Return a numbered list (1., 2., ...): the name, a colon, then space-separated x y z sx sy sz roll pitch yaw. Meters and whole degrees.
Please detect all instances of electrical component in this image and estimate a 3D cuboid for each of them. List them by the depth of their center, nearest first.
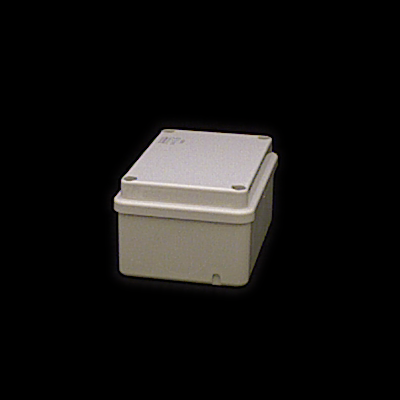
1. electrical component: 0.000 0.000 0.639 0.078 0.058 0.112 5 21 10
